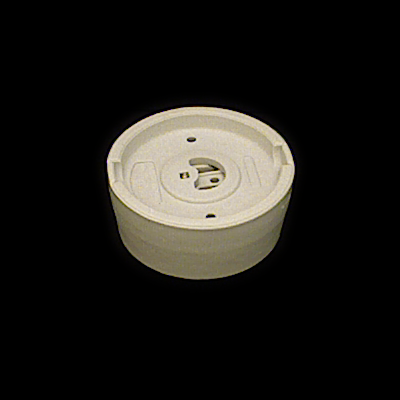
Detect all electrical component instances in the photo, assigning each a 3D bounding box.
[{"bbox_3d":[0.000,0.000,0.635,0.108,0.061,0.107,1,43,0],"label":"electrical component"}]
